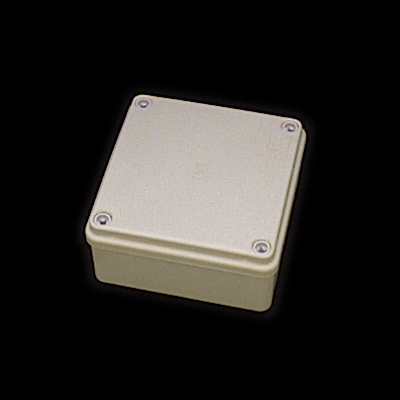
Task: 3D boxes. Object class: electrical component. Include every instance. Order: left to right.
[{"bbox_3d":[0.000,0.000,0.630,0.108,0.108,0.056,10,-37,8],"label":"electrical component"}]
